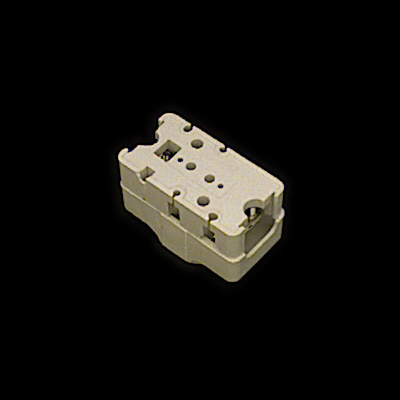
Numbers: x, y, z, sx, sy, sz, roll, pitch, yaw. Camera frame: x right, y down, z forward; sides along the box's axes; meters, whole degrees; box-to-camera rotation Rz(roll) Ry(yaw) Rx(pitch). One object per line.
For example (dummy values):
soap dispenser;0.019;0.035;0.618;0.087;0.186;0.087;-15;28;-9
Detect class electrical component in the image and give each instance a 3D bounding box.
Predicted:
electrical component;0.000;0.000;0.637;0.089;0.050;0.056;34;-29;23
